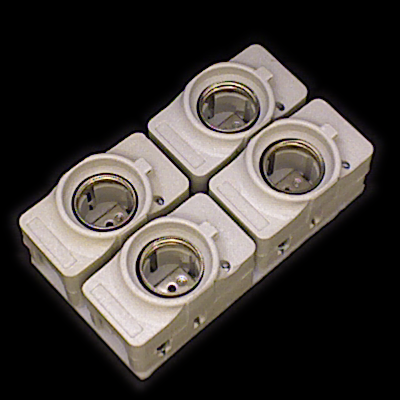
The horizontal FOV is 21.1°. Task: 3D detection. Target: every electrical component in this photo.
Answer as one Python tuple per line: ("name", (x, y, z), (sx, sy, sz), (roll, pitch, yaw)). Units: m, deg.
("electrical component", (0.000, 0.000, 0.626), (0.187, 0.105, 0.060), (-39, -21, -18))
